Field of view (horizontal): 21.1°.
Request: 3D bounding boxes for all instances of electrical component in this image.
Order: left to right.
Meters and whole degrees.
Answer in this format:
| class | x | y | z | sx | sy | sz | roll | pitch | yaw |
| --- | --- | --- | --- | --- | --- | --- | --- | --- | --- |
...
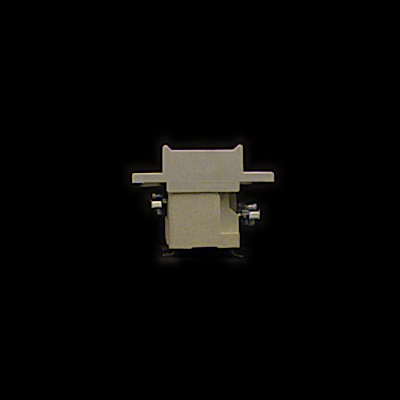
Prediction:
| class | x | y | z | sx | sy | sz | roll | pitch | yaw |
| --- | --- | --- | --- | --- | --- | --- | --- | --- | --- |
| electrical component | 0.000 | 0.000 | 0.660 | 0.079 | 0.063 | 0.121 | 0 | 1 | -2 |
